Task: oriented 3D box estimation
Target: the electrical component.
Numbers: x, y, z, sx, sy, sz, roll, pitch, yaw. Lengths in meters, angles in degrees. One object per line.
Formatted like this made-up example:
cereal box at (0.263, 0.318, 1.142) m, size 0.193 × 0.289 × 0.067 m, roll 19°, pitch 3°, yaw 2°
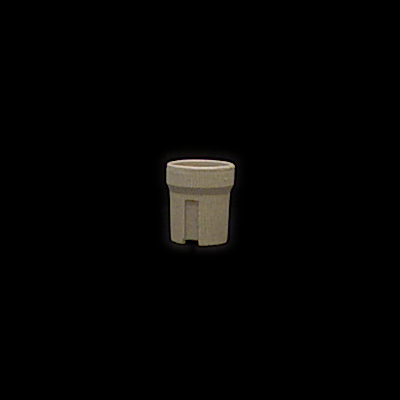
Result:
electrical component at (0.000, 0.000, 0.646) m, size 0.040 × 0.046 × 0.040 m, roll 1°, pitch 11°, yaw 0°
